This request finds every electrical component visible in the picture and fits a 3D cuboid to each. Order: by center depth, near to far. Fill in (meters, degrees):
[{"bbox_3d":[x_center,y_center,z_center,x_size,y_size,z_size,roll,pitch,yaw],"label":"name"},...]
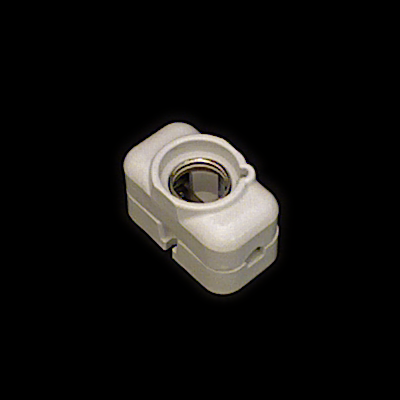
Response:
[{"bbox_3d":[0.000,0.000,0.636,0.054,0.094,0.059,-37,-28,-24],"label":"electrical component"}]
